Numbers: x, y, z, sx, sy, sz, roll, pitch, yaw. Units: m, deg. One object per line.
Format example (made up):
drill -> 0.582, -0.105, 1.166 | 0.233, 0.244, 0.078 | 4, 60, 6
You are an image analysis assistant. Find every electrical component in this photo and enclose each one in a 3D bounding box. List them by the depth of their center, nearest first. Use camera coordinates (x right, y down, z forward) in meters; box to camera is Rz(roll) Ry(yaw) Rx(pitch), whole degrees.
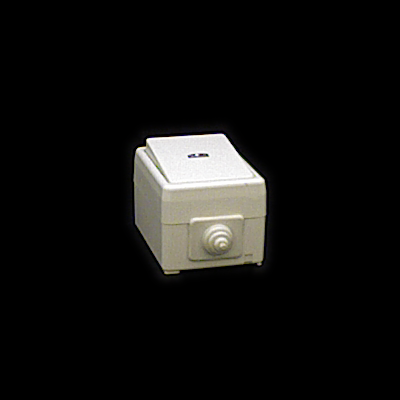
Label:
electrical component -> 0.000, 0.000, 0.636 | 0.062, 0.061, 0.095 | -5, 21, -15
